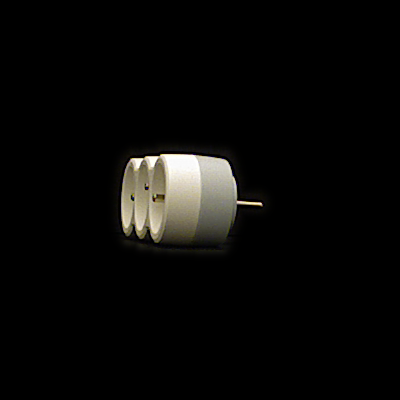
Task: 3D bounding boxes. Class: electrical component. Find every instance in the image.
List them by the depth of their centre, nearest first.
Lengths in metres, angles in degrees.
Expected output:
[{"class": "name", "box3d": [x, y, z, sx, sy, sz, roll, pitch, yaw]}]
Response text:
[{"class": "electrical component", "box3d": [0.000, 0.000, 0.656, 0.074, 0.052, 0.137, 2, 0, -15]}]
